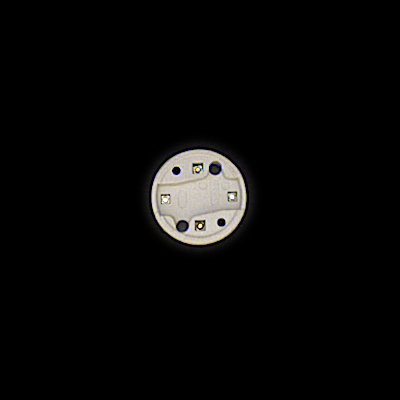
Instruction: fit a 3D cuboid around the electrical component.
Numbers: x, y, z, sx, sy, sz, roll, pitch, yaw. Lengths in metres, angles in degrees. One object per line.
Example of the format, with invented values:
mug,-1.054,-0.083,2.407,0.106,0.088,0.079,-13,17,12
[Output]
electrical component,0.000,0.000,0.636,0.055,0.055,0.047,0,-6,0
